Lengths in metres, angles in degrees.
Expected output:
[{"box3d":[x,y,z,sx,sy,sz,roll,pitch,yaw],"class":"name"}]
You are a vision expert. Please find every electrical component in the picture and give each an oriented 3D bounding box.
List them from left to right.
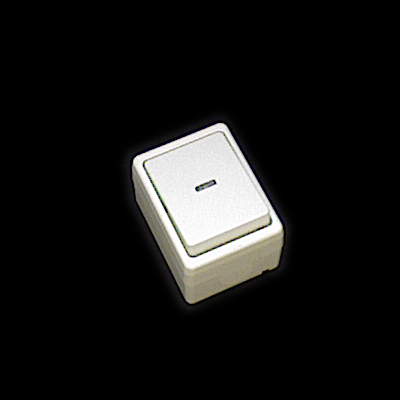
[{"box3d":[0.000,0.000,0.627,0.062,0.096,0.061,-23,-25,-11],"class":"electrical component"}]
